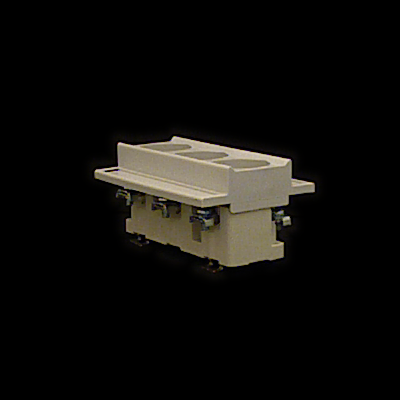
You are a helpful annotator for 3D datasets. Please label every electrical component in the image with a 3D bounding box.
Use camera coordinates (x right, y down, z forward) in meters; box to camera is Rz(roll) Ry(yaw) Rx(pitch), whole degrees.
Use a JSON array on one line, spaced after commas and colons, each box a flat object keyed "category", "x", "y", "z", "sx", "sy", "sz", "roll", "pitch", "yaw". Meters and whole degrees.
[{"category": "electrical component", "x": 0.000, "y": 0.000, "z": 0.655, "sx": 0.079, "sy": 0.063, "sz": 0.120, "roll": -8, "pitch": 14, "yaw": -33}]
